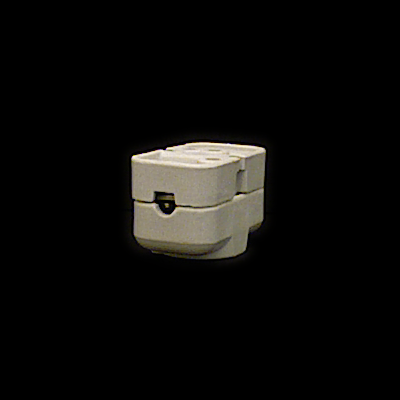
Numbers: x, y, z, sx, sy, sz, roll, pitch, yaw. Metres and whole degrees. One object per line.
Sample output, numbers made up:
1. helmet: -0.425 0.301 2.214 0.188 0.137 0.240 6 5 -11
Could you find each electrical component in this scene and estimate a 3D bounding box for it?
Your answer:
1. electrical component: 0.000 0.000 0.651 0.053 0.060 0.095 7 13 25
